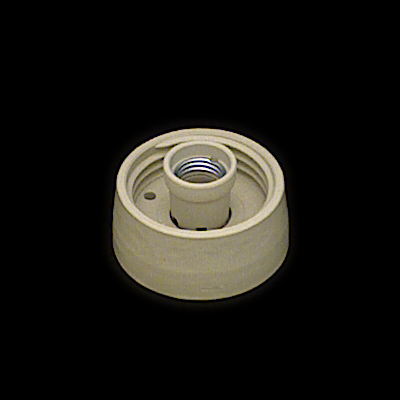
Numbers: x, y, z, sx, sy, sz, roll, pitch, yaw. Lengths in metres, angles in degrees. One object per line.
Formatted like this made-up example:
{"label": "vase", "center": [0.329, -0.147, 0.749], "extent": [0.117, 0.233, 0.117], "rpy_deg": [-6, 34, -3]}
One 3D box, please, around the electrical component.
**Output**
{"label": "electrical component", "center": [0.000, 0.000, 0.639], "extent": [0.108, 0.061, 0.106], "rpy_deg": [1, 42, 0]}
